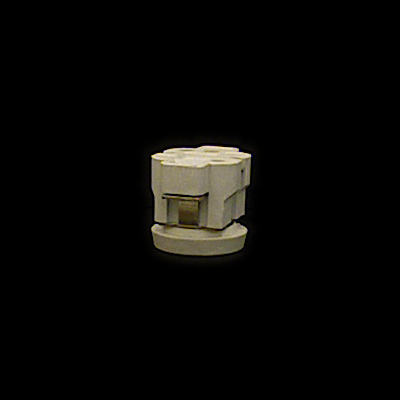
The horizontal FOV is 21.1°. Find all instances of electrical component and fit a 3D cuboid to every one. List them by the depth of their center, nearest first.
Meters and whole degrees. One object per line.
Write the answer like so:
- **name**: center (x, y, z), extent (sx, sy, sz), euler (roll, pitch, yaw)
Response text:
- **electrical component**: center (0.000, 0.000, 0.649), extent (0.057, 0.057, 0.078), euler (5, 13, 17)
